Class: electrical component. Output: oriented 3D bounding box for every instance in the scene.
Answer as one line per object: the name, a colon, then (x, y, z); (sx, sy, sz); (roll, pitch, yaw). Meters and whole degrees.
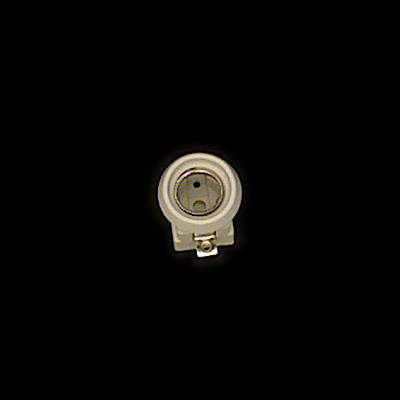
electrical component: (0.000, 0.000, 0.637); (0.048, 0.066, 0.055); (-10, -16, -1)
